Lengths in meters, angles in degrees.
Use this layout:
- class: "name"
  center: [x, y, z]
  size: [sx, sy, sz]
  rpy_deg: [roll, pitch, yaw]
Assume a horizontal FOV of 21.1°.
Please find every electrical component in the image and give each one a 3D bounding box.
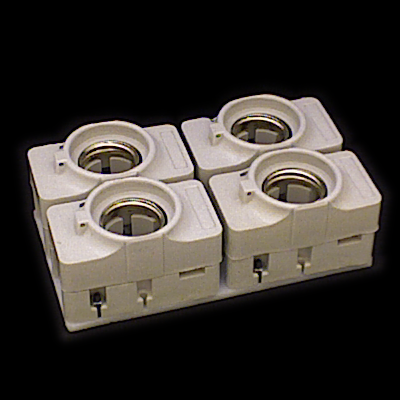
- class: "electrical component"
  center: [0.000, 0.000, 0.629]
  size: [0.186, 0.061, 0.104]
  rpy_deg: [-11, 43, -13]
